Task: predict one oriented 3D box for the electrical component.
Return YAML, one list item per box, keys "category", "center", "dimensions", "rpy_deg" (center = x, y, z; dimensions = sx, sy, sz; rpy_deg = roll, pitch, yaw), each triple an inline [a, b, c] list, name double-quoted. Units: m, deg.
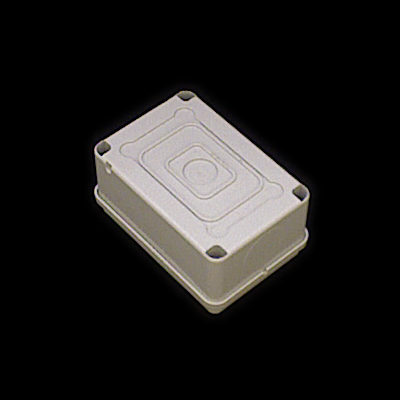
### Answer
- category: "electrical component"
  center: [0.000, 0.000, 0.629]
  dimensions: [0.078, 0.057, 0.112]
  rpy_deg: [-35, 61, -24]
